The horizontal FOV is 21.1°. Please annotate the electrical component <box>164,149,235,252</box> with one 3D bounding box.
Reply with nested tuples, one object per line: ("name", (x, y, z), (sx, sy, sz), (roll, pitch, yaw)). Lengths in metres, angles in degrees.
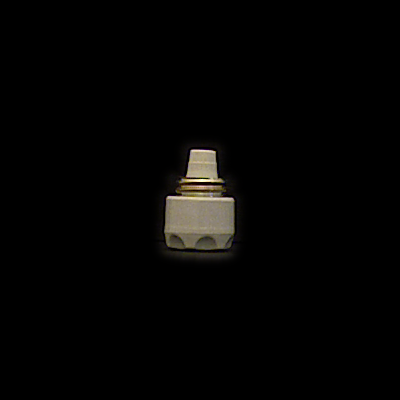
("electrical component", (0.000, 0.000, 0.656), (0.043, 0.062, 0.043), (3, 2, 0))
